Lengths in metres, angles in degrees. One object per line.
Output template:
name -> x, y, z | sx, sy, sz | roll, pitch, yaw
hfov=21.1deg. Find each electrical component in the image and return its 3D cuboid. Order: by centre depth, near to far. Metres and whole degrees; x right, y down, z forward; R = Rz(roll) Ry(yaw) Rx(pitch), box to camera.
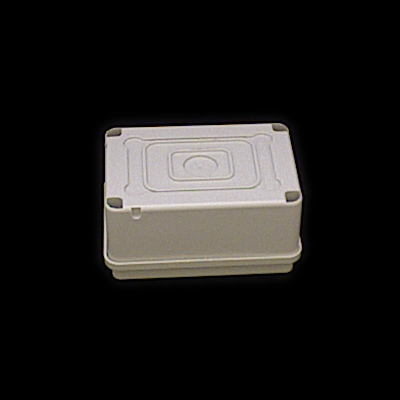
electrical component -> 0.000, 0.000, 0.632 | 0.113, 0.057, 0.077 | -2, 42, -4
